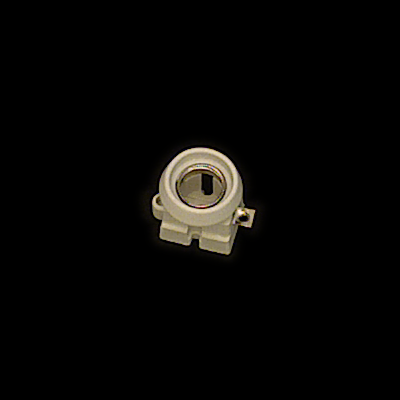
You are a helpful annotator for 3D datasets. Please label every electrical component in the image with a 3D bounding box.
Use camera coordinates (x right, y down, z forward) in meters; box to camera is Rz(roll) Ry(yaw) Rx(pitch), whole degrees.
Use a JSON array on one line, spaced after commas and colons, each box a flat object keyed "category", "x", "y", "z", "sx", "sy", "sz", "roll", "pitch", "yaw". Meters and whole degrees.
[{"category": "electrical component", "x": 0.000, "y": 0.000, "z": 0.638, "sx": 0.066, "sy": 0.048, "sz": 0.055, "roll": 12, "pitch": -24, "yaw": 6}]
